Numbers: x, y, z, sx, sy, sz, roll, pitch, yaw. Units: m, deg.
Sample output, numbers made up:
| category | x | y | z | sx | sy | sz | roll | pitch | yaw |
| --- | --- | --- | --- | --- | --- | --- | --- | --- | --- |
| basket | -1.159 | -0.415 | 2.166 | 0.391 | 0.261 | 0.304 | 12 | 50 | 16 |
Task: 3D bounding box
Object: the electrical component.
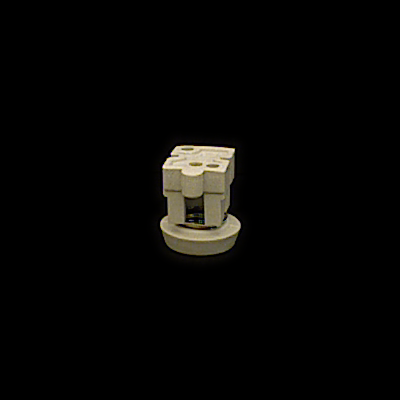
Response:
| category | x | y | z | sx | sy | sz | roll | pitch | yaw |
| --- | --- | --- | --- | --- | --- | --- | --- | --- | --- |
| electrical component | 0.000 | 0.000 | 0.646 | 0.048 | 0.056 | 0.066 | 3 | 21 | 9 |
